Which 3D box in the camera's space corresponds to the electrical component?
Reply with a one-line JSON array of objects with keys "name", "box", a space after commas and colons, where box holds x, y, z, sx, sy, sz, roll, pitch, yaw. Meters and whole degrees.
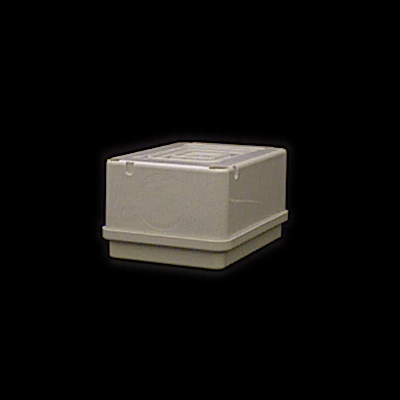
[{"name": "electrical component", "box": [0.000, 0.000, 0.645, 0.078, 0.057, 0.113, 5, 11, 22]}]
